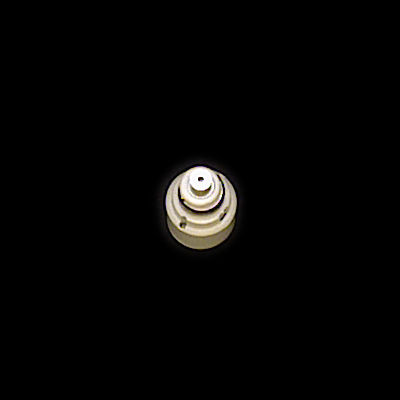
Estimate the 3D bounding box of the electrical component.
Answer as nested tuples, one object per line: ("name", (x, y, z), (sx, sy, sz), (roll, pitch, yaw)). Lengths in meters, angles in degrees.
("electrical component", (0.000, 0.000, 0.617), (0.040, 0.040, 0.078), (0, -18, 0))
